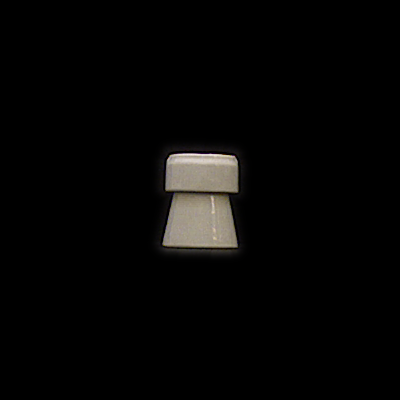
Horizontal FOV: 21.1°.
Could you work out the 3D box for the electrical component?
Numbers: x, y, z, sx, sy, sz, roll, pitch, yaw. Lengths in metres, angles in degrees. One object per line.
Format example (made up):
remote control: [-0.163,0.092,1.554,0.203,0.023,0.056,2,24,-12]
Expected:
electrical component: [0.000,0.000,0.651,0.045,0.055,0.045,2,1,0]
